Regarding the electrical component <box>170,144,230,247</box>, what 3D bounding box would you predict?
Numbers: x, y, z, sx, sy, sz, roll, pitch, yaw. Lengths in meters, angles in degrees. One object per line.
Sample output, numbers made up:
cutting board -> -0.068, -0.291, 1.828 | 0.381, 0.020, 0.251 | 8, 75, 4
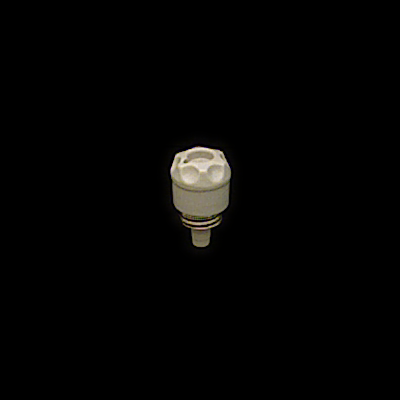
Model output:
electrical component -> 0.000, 0.000, 0.641 | 0.035, 0.062, 0.035 | 0, 32, 0
